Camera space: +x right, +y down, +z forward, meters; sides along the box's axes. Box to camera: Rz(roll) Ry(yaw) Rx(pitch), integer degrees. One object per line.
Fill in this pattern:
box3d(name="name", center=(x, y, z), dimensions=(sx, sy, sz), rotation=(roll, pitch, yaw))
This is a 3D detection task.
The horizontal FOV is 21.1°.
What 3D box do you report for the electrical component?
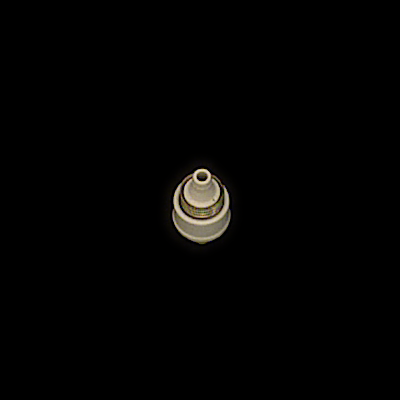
box3d(name="electrical component", center=(0.000, 0.000, 0.638), dimensions=(0.035, 0.035, 0.061), rotation=(0, -27, -1))
